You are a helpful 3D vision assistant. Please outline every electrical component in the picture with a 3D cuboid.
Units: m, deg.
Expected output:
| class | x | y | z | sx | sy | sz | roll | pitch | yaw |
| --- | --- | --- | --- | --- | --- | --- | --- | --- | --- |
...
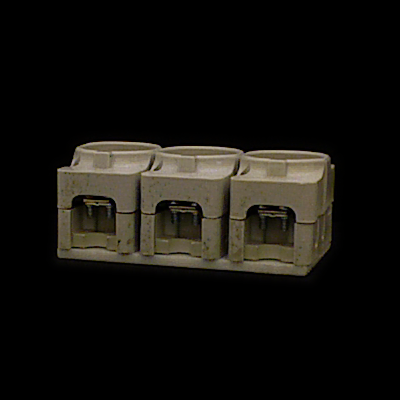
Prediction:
| class | x | y | z | sx | sy | sz | roll | pitch | yaw |
| --- | --- | --- | --- | --- | --- | --- | --- | --- | --- |
| electrical component | 0.000 | 0.000 | 0.649 | 0.150 | 0.062 | 0.088 | 3 | 11 | 14 |
